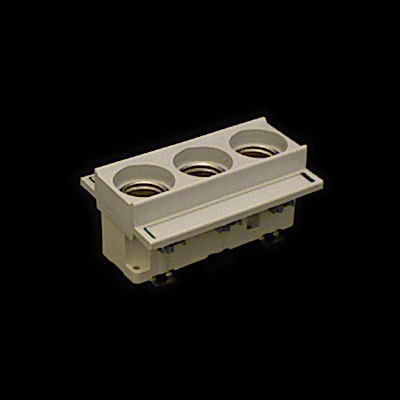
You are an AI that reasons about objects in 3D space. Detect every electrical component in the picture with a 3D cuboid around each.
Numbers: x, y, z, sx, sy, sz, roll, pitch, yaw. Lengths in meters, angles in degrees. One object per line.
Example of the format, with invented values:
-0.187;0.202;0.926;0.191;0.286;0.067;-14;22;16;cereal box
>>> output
0.000;0.000;0.646;0.121;0.064;0.077;-19;38;-28;electrical component
